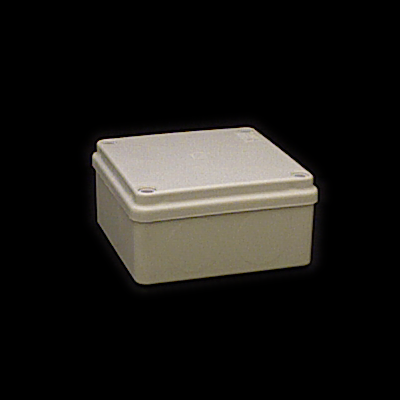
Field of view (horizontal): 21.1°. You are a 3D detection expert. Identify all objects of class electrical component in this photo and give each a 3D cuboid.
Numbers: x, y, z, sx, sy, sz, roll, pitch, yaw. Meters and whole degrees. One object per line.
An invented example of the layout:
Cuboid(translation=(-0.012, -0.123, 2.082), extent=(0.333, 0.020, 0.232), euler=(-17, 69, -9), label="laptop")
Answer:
Cuboid(translation=(0.000, 0.000, 0.638), extent=(0.109, 0.057, 0.107), euler=(-6, 22, -17), label="electrical component")
